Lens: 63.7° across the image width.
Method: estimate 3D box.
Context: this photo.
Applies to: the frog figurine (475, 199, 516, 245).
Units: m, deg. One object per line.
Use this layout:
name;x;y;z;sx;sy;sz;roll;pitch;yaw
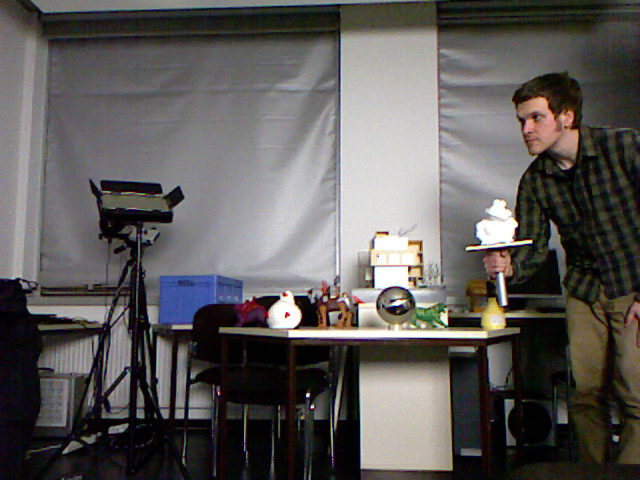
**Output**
frog figurine;0.610;-0.060;1.801;0.137;0.160;0.123;-7;-4;33
